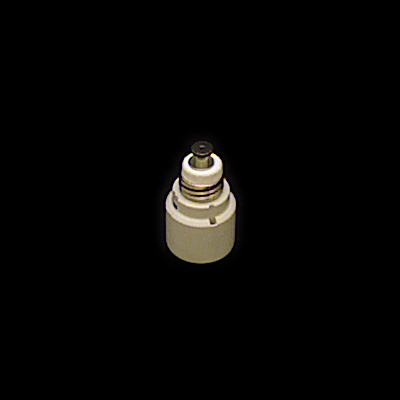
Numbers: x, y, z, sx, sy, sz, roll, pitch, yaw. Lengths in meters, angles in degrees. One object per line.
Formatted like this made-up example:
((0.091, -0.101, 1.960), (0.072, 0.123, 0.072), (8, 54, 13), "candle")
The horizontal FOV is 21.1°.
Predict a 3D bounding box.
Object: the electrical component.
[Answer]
((0.000, 0.000, 0.626), (0.040, 0.079, 0.039), (1, 43, -1), "electrical component")
